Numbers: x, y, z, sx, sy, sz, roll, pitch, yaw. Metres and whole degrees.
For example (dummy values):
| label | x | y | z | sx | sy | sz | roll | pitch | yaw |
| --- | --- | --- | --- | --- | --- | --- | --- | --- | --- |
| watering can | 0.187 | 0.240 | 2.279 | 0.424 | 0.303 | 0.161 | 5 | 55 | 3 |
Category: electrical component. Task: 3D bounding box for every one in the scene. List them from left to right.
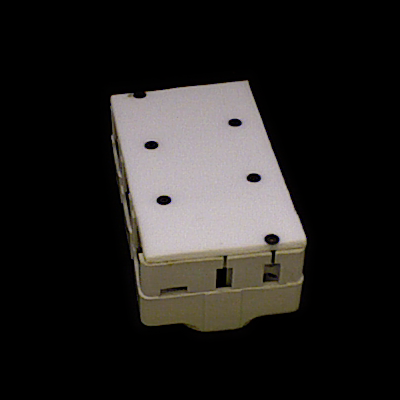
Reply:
| label | x | y | z | sx | sy | sz | roll | pitch | yaw |
| --- | --- | --- | --- | --- | --- | --- | --- | --- | --- |
| electrical component | 0.000 | 0.000 | 0.635 | 0.089 | 0.063 | 0.147 | -6 | 43 | -7 |
